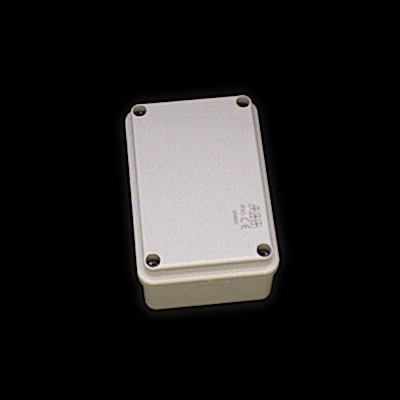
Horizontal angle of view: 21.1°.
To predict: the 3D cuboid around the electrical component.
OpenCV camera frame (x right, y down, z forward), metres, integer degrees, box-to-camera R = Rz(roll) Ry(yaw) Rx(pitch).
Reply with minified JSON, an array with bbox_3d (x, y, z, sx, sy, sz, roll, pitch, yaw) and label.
[{"bbox_3d":[0.000,0.000,0.627,0.078,0.113,0.057,-5,-27,-3],"label":"electrical component"}]
